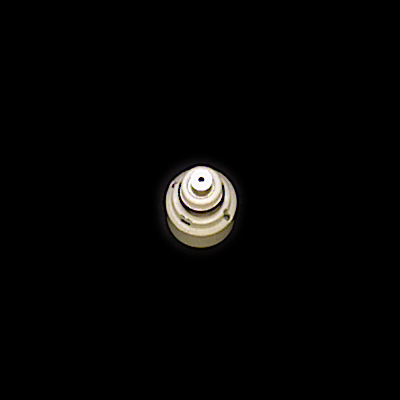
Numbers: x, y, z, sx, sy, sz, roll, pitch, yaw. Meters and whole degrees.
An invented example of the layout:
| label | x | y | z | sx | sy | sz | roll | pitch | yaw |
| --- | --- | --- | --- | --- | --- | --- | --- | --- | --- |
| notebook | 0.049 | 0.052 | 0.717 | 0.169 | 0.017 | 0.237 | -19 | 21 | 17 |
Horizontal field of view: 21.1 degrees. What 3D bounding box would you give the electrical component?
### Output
| label | x | y | z | sx | sy | sz | roll | pitch | yaw |
| --- | --- | --- | --- | --- | --- | --- | --- | --- | --- |
| electrical component | 0.000 | 0.000 | 0.618 | 0.040 | 0.040 | 0.078 | 0 | -17 | -1 |
